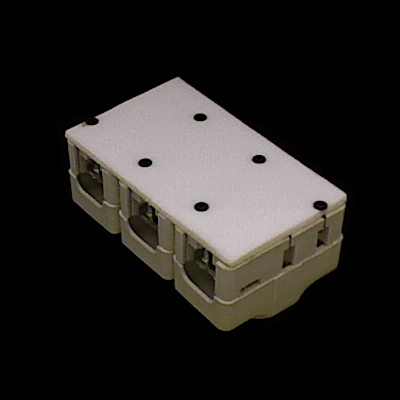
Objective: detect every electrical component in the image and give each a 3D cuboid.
[{"bbox_3d":[0.000,0.000,0.636,0.089,0.063,0.148,-29,50,-29],"label":"electrical component"}]
